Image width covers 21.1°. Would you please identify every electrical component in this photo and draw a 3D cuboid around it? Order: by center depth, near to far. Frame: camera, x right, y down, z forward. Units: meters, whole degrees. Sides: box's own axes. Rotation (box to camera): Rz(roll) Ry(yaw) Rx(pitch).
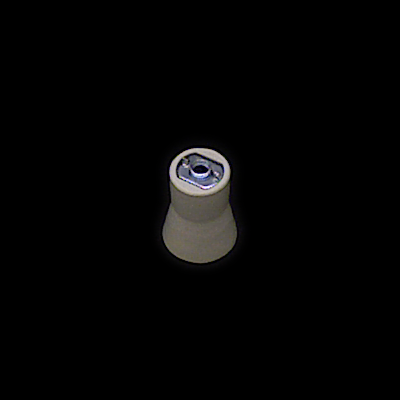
[{"bbox_3d":[0.000,0.000,0.626,0.044,0.044,0.065,0,-37,0],"label":"electrical component"}]
